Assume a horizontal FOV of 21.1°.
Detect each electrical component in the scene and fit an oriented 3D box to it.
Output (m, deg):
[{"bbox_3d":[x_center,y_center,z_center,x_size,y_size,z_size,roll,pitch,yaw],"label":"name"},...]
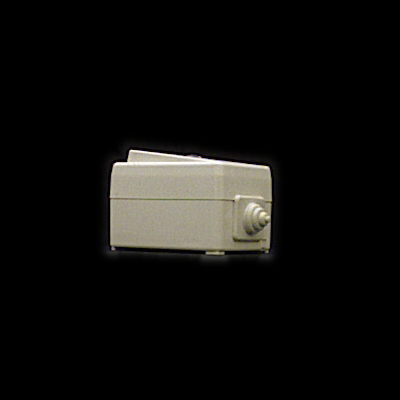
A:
[{"bbox_3d":[0.000,0.000,0.648,0.096,0.061,0.062,1,0,34],"label":"electrical component"}]
